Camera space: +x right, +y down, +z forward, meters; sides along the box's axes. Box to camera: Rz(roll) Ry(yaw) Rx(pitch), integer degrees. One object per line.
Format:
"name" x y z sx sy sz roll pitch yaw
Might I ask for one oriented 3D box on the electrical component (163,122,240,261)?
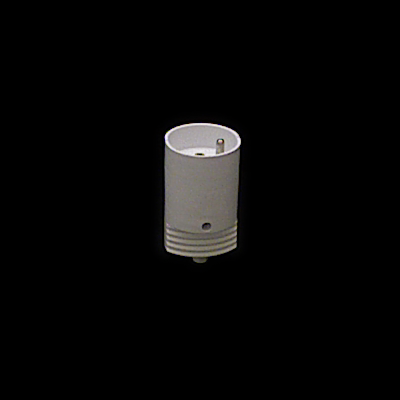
"electrical component" 0.000 0.000 0.630 0.043 0.082 0.042 1 32 -1
